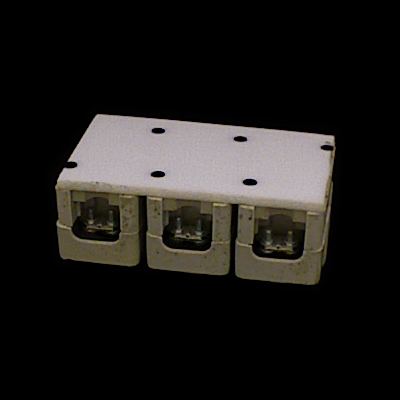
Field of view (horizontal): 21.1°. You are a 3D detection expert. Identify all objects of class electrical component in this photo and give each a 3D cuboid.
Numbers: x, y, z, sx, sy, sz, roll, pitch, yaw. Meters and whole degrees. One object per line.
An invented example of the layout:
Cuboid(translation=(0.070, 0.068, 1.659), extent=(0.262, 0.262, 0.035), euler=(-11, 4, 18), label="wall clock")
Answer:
Cuboid(translation=(0.000, 0.000, 0.639), extent=(0.150, 0.063, 0.088), euler=(6, 31, 8), label="electrical component")
